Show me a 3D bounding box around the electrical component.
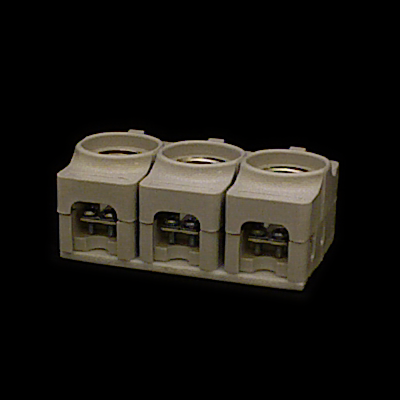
[{"bbox_3d":[0.000,0.000,0.647,0.150,0.063,0.088,7,21,15],"label":"electrical component"}]
